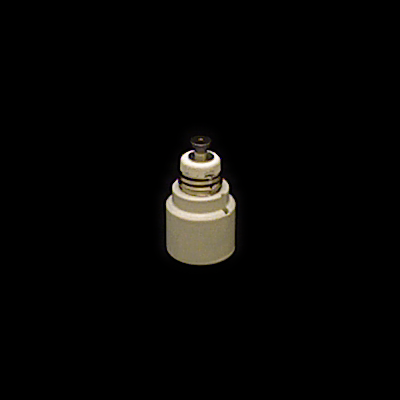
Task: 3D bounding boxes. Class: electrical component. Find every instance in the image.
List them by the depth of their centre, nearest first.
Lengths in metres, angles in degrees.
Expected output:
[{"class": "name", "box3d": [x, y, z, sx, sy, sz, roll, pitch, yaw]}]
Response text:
[{"class": "electrical component", "box3d": [0.000, 0.000, 0.628, 0.040, 0.079, 0.039, 0, 31, 0]}]
